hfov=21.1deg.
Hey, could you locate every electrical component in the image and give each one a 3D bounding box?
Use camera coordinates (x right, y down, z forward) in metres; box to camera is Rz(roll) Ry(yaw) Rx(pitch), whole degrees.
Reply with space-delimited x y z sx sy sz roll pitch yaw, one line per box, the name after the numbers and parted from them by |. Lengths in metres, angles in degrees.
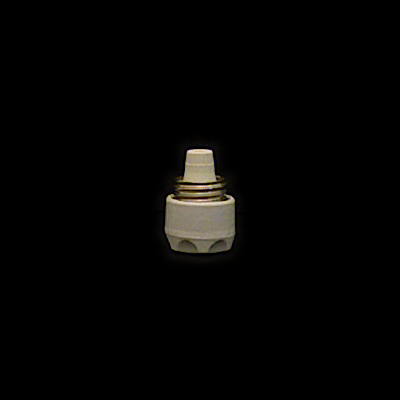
0.000 0.000 0.651 0.043 0.062 0.043 0 11 1 | electrical component
